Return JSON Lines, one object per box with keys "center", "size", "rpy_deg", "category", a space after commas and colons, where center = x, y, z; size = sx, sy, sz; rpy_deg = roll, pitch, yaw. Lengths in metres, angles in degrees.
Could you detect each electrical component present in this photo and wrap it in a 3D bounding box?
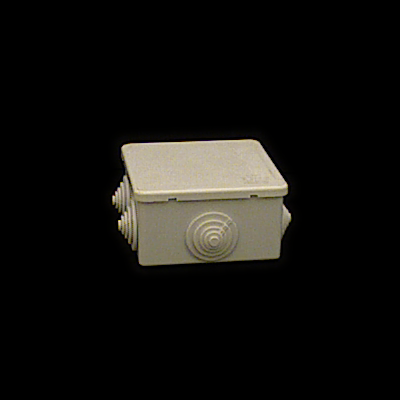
{"center": [0.000, 0.000, 0.648], "size": [0.100, 0.049, 0.098], "rpy_deg": [-2, 22, -9], "category": "electrical component"}
